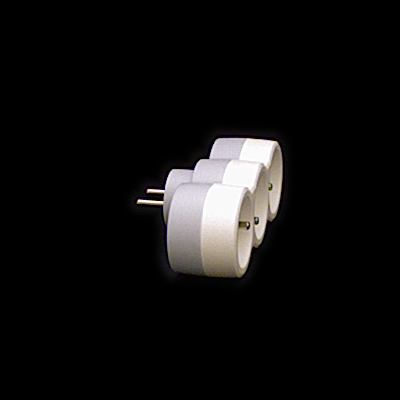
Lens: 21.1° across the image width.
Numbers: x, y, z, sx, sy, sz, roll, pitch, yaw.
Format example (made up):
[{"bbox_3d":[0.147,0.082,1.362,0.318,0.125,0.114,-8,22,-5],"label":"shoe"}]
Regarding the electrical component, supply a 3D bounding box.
[{"bbox_3d":[0.000,0.000,0.638,0.073,0.053,0.137,4,22,14],"label":"electrical component"}]
